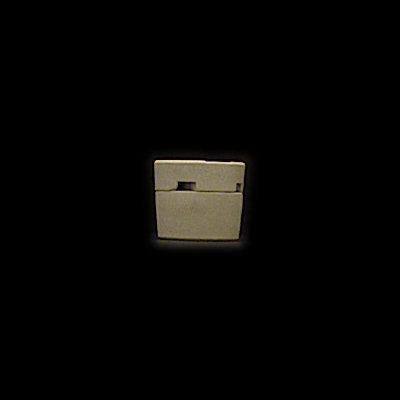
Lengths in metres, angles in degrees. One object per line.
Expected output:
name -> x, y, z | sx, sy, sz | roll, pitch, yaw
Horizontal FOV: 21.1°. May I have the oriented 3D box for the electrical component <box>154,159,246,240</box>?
electrical component -> 0.000, 0.000, 0.650 | 0.055, 0.047, 0.055 | 1, 1, 0
